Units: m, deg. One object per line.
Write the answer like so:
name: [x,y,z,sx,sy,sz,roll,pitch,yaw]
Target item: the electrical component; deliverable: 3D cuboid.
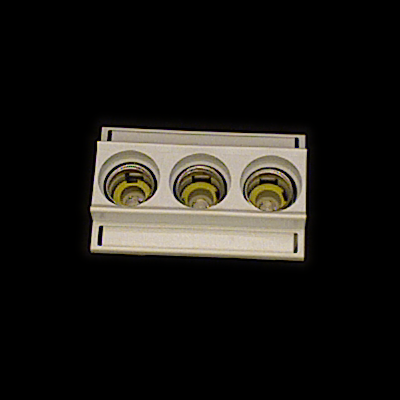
electrical component: [0.000,0.000,0.637,0.121,0.078,0.063,3,-25,1]
